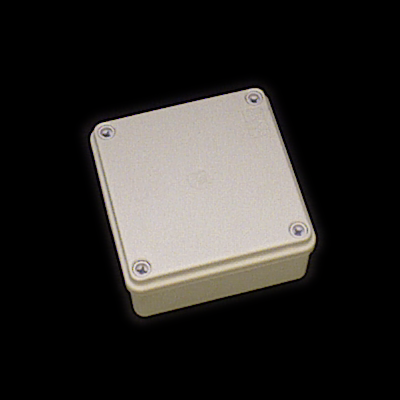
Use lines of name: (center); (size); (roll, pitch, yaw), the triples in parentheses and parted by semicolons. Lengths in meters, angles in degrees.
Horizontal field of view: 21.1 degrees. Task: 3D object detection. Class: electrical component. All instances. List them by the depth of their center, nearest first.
electrical component: (0.000, 0.000, 0.628); (0.109, 0.109, 0.056); (-13, -27, -6)
